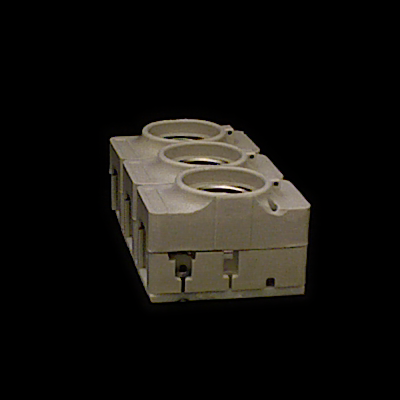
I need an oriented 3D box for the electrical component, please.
[{"bbox_3d":[0.000,0.000,0.646,0.089,0.063,0.147,-3,21,-13],"label":"electrical component"}]
